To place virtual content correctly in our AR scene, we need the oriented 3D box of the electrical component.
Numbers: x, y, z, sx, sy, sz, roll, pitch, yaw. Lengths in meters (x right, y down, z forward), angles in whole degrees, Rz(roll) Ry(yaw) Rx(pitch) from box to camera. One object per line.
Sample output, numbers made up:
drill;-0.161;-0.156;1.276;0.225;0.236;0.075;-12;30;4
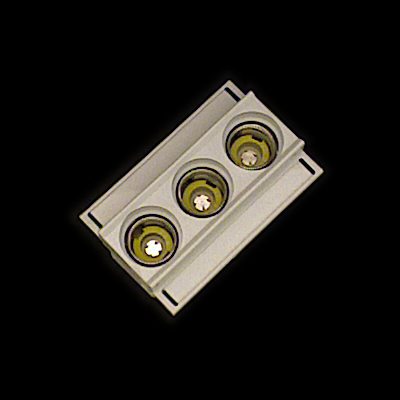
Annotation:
electrical component;0.000;0.000;0.637;0.122;0.078;0.063;-43;-11;-11
